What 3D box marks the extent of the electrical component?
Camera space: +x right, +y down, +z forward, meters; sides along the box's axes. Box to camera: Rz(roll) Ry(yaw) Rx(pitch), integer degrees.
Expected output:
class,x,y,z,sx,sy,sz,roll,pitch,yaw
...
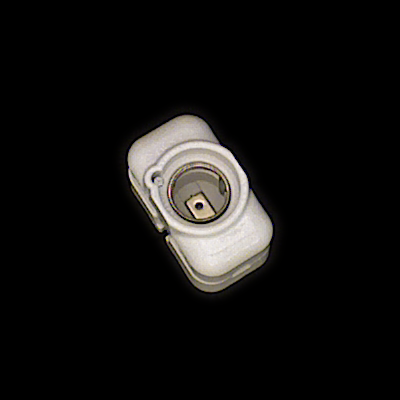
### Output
class,x,y,z,sx,sy,sz,roll,pitch,yaw
electrical component,0.000,0.000,0.633,0.054,0.095,0.059,-32,-14,-9
